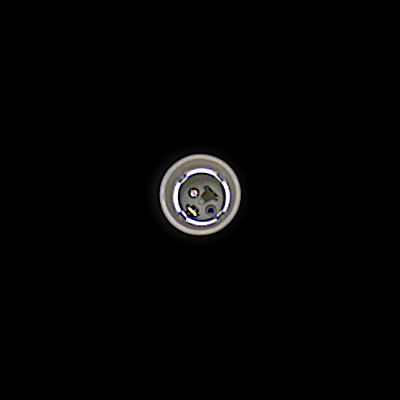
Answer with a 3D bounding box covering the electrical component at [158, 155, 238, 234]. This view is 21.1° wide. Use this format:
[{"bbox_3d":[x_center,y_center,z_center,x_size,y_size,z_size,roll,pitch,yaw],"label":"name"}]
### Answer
[{"bbox_3d":[0.000,0.000,0.625,0.044,0.044,0.065,0,-7,2],"label":"electrical component"}]
